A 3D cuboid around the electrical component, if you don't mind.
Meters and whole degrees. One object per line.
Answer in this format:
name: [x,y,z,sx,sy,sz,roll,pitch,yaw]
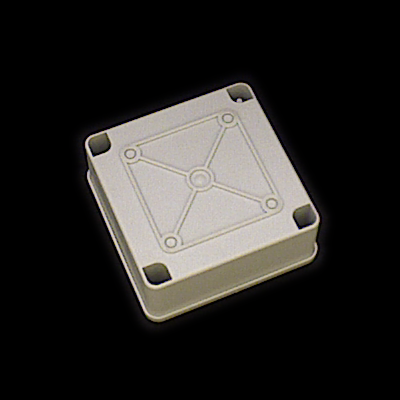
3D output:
electrical component: [0.000,0.000,0.629,0.109,0.108,0.056,-21,-25,-11]
